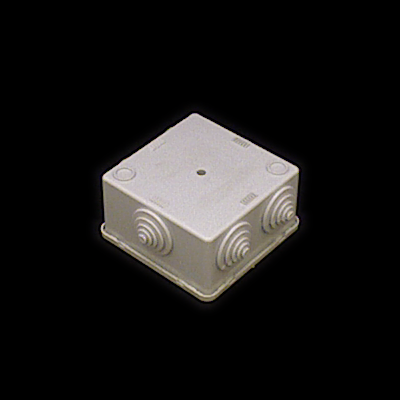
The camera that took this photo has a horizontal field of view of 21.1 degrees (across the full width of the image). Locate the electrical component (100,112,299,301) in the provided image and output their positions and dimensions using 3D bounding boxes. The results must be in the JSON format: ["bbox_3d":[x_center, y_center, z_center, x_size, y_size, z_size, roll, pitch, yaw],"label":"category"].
[{"bbox_3d":[0.000,0.000,0.635,0.099,0.049,0.099,31,50,28],"label":"electrical component"}]
